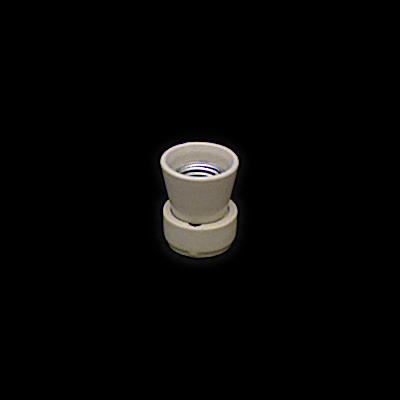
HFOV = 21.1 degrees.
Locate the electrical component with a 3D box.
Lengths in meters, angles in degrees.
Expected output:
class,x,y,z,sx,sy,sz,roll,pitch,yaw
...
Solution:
class,x,y,z,sx,sy,sz,roll,pitch,yaw
electrical component,0.000,0.000,0.634,0.045,0.056,0.044,0,31,0
